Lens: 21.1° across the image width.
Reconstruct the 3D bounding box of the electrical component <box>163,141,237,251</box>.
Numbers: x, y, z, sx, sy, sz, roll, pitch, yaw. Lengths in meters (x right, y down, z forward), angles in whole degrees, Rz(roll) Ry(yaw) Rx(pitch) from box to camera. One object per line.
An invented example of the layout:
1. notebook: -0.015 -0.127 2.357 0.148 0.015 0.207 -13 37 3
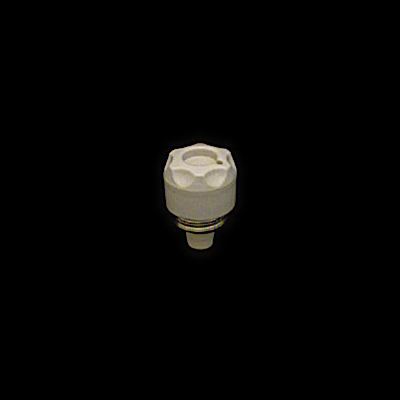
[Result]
1. electrical component: 0.000 0.000 0.641 0.043 0.063 0.043 0 32 1
